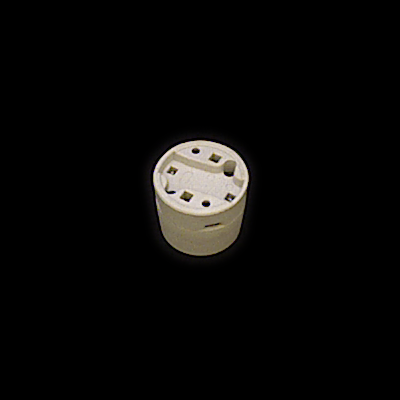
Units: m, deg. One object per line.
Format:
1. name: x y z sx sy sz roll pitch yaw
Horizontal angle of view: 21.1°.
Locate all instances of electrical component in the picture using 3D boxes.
1. electrical component: 0.000 0.000 0.635 0.055 0.055 0.047 0 -38 0
